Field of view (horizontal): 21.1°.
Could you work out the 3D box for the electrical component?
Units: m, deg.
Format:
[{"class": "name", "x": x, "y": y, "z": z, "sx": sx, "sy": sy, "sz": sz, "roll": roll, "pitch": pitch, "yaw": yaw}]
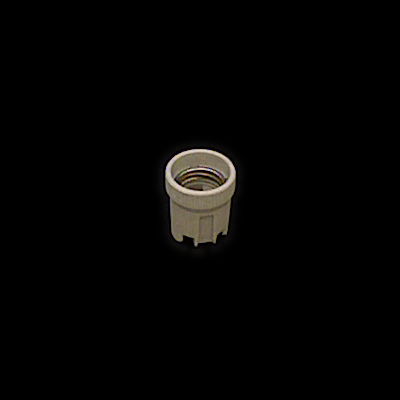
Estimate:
[{"class": "electrical component", "x": 0.000, "y": 0.000, "z": 0.631, "sx": 0.040, "sy": 0.047, "sz": 0.039, "roll": 1, "pitch": 42, "yaw": 0}]
